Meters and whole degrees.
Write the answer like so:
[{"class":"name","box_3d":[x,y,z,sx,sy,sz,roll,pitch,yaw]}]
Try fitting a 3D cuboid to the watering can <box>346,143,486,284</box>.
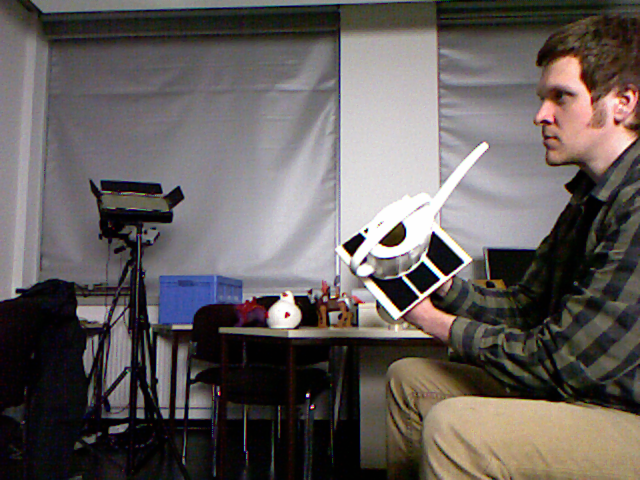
[{"class":"watering can","box_3d":[0.193,-0.034,1.020,0.351,0.106,0.221,-40,-22,-8]}]
